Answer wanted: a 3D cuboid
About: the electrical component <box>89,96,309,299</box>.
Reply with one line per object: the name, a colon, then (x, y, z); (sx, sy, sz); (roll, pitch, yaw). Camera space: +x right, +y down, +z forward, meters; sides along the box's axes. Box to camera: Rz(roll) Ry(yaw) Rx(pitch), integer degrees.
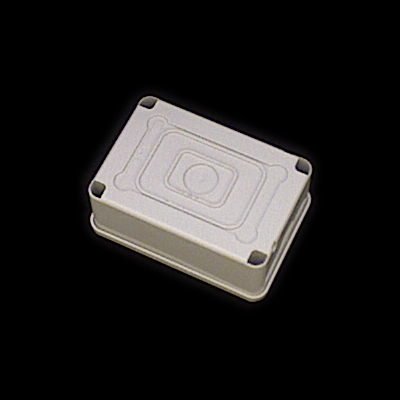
electrical component: (0.000, 0.000, 0.628); (0.113, 0.078, 0.057); (23, -25, 12)
